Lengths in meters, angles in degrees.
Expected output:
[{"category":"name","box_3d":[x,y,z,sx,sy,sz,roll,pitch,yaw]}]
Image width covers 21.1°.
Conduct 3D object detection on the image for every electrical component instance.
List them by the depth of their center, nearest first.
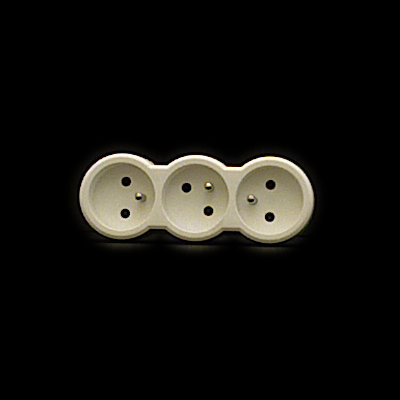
[{"category":"electrical component","box_3d":[0.000,0.000,0.660,0.138,0.052,0.074,1,0,5]}]
